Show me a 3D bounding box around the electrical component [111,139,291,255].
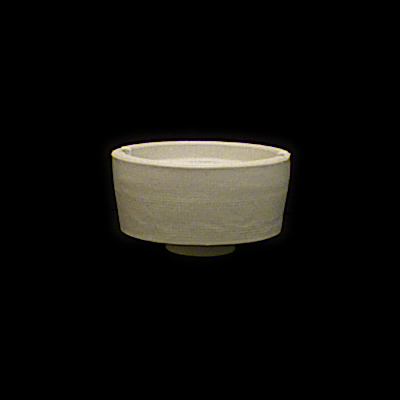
[{"bbox_3d":[0.000,0.000,0.653,0.108,0.061,0.107,1,11,0],"label":"electrical component"}]
